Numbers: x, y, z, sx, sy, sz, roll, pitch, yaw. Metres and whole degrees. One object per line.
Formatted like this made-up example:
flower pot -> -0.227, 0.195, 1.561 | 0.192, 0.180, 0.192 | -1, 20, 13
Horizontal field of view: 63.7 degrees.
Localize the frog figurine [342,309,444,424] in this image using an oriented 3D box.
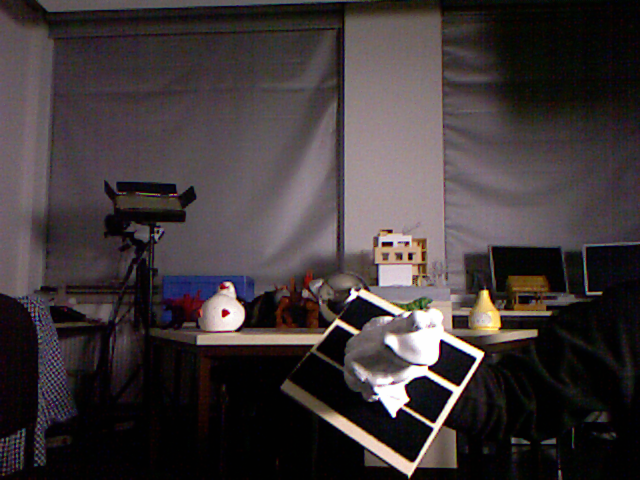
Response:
frog figurine -> 0.089, 0.135, 0.651 | 0.138, 0.155, 0.125 | -28, 51, -19
